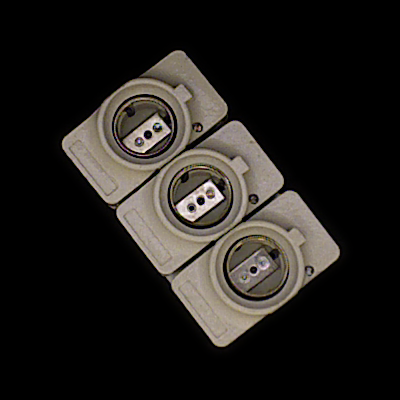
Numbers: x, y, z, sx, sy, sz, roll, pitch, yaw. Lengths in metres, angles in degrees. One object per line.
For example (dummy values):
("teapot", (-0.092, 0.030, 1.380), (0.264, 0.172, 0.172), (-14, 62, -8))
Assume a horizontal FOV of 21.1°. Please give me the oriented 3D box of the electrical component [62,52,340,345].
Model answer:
("electrical component", (0.000, 0.000, 0.632), (0.089, 0.150, 0.061), (-38, -4, -4))
